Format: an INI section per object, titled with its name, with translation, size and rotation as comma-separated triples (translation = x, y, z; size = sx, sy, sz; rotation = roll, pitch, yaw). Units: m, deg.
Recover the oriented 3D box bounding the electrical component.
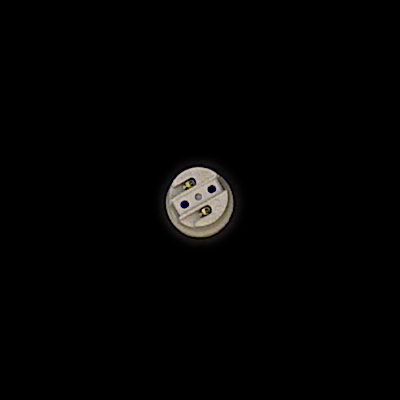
[electrical component]
translation = 0.000, 0.000, 0.634
size = 0.040, 0.040, 0.046
rotation = 0, -7, 0
